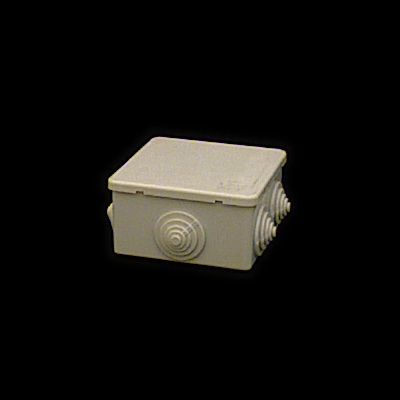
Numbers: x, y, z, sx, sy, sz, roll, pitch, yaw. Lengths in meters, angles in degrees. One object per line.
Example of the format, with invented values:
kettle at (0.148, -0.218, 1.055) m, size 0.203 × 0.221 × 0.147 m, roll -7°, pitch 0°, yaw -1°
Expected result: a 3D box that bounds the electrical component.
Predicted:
electrical component at (0.000, 0.000, 0.647) m, size 0.099 × 0.049 × 0.099 m, roll 7°, pitch 22°, yaw 14°
